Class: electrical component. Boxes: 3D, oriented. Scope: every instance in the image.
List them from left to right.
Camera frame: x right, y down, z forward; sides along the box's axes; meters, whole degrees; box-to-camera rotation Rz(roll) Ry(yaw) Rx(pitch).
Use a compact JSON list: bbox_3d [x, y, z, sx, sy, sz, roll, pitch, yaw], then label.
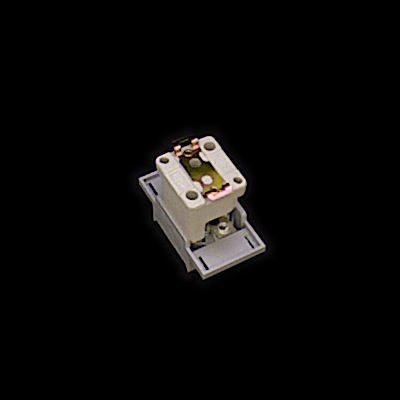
[{"bbox_3d":[0.000,0.000,0.627,0.042,0.080,0.064,-24,-34,-18],"label":"electrical component"}]
